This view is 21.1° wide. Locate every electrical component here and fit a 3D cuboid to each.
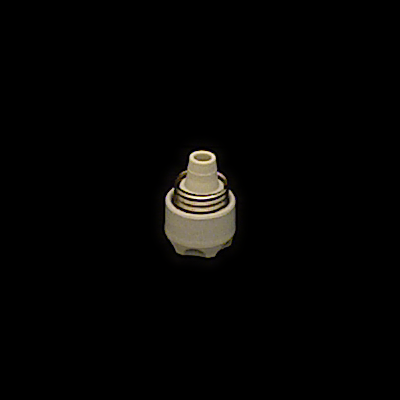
[{"bbox_3d":[0.000,0.000,0.641,0.043,0.063,0.043,2,33,-1],"label":"electrical component"}]
